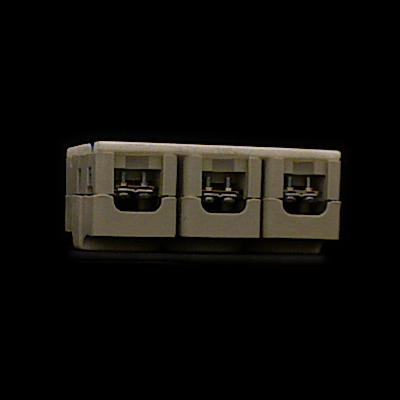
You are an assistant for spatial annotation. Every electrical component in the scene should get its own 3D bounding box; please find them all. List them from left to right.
[{"bbox_3d":[0.000,0.000,0.660,0.150,0.062,0.089,2,0,-18],"label":"electrical component"}]
